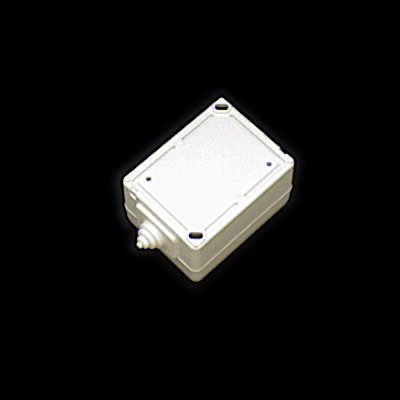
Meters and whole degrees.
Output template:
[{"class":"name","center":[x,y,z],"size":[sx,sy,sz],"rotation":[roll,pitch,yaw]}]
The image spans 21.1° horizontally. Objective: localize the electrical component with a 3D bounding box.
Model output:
[{"class":"electrical component","center":[0.000,0.000,0.623],"size":[0.097,0.062,0.060],"rotation":[-41,-20,-19]}]
